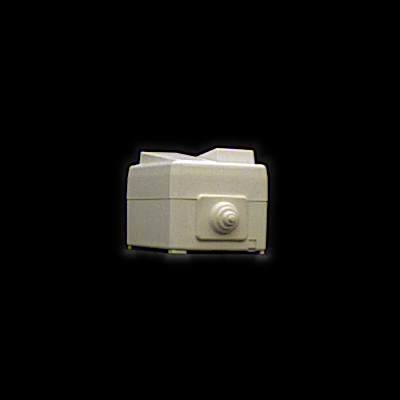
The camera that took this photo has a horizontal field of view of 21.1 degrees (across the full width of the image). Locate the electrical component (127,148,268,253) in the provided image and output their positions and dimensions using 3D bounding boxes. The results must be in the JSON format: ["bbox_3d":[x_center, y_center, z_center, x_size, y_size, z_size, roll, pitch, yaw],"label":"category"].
[{"bbox_3d":[0.000,0.000,0.647,0.062,0.061,0.096,1,0,-23],"label":"electrical component"}]
